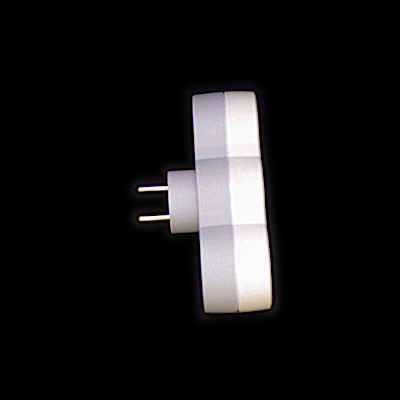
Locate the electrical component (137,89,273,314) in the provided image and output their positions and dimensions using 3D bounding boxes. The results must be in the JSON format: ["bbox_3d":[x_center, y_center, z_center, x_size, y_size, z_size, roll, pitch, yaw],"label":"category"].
[{"bbox_3d":[0.000,0.000,0.629,0.074,0.139,0.052,-4,-26,0],"label":"electrical component"}]
